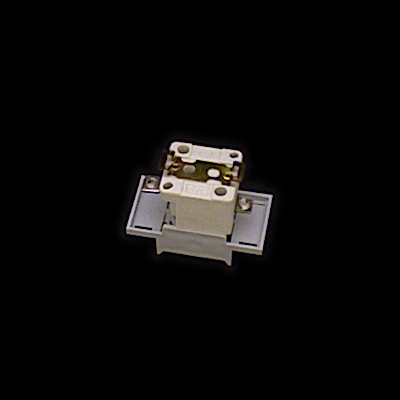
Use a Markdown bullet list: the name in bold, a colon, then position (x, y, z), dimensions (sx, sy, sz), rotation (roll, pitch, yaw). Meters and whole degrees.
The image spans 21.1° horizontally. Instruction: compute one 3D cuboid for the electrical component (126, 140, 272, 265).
- **electrical component**: position (0.000, 0.000, 0.628), dimensions (0.081, 0.042, 0.064), rotation (8, -37, 6)
